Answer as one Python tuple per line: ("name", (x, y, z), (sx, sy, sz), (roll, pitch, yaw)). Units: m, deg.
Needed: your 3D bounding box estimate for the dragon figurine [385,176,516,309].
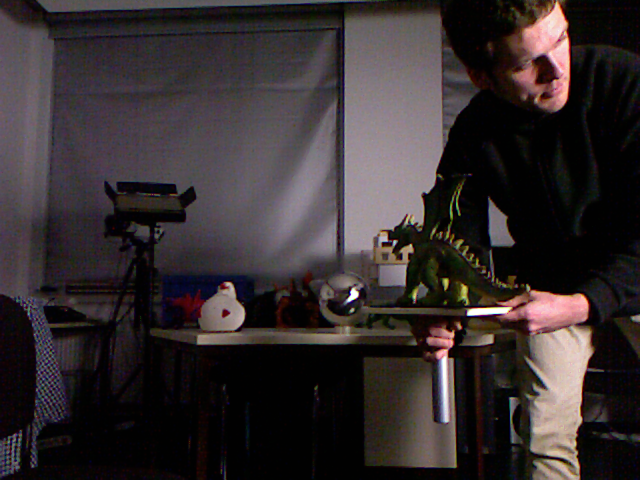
("dragon figurine", (0.229, 0.000, 0.958), (0.122, 0.244, 0.408), (1, -5, -19))
